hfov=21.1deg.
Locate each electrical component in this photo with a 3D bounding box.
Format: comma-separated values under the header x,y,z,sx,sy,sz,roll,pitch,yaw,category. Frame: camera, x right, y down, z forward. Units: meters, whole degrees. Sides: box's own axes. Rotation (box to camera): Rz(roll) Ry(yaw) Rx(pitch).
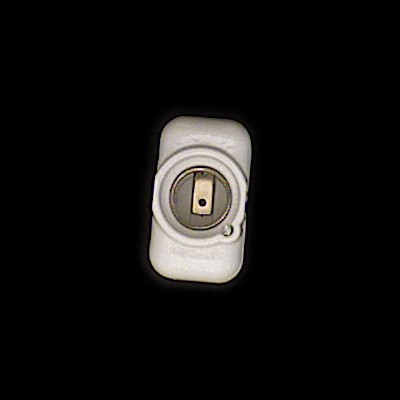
x,y,z,sx,sy,sz,roll,pitch,yaw,category
0.000,0.000,0.635,0.054,0.095,0.059,4,-5,2,electrical component
